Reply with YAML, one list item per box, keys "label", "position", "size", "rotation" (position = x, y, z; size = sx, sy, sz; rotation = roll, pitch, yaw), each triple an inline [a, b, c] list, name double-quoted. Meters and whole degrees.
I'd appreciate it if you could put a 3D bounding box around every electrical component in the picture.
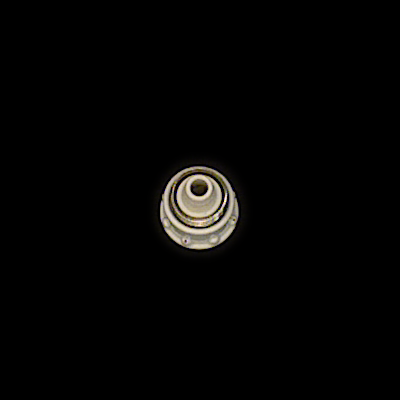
- label: "electrical component"
  position: [0.000, 0.000, 0.633]
  size: [0.048, 0.048, 0.061]
  rotation: [0, -15, 0]
